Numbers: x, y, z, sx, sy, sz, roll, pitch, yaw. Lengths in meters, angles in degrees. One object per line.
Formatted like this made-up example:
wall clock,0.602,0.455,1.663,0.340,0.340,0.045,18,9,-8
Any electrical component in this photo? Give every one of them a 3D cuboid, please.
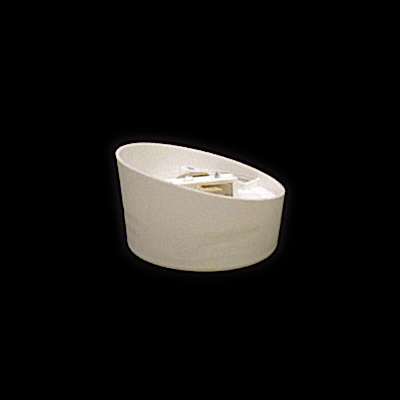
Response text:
electrical component,0.000,0.000,0.636,0.099,0.065,0.097,1,21,0
